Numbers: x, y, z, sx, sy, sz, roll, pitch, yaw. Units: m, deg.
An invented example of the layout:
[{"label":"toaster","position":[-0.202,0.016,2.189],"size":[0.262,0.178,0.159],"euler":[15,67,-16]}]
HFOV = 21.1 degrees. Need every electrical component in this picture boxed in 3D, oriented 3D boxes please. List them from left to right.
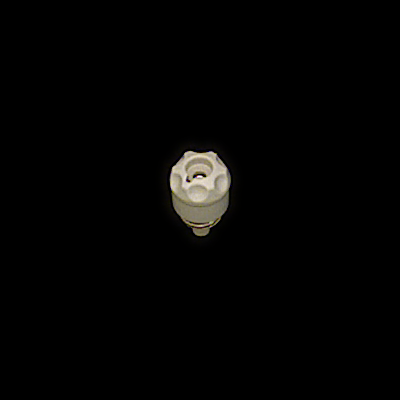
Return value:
[{"label":"electrical component","position":[0.000,0.000,0.634],"size":[0.035,0.035,0.061],"euler":[0,-37,0]}]
